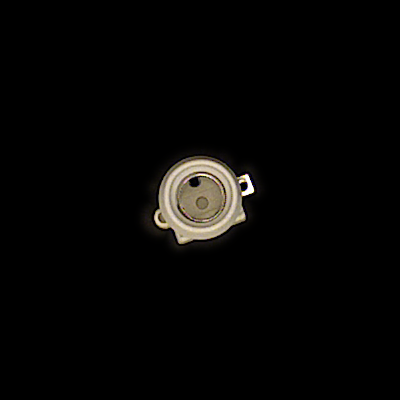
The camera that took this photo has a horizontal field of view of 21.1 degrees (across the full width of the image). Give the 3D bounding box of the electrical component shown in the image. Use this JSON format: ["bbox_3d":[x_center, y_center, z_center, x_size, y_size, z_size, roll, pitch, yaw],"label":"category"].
[{"bbox_3d":[0.000,0.000,0.639,0.066,0.048,0.055,-22,-4,-2],"label":"electrical component"}]
